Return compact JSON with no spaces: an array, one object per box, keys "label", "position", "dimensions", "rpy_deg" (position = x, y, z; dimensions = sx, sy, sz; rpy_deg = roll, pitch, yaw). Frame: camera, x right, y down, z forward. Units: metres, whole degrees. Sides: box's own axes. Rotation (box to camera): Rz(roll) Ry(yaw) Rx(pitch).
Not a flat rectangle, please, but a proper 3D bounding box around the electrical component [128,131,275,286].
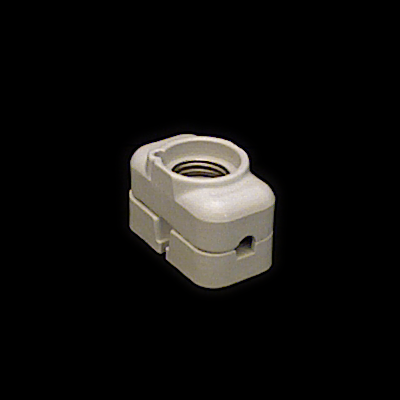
[{"label":"electrical component","position":[0.000,0.000,0.640],"dimensions":[0.054,0.060,0.093],"rpy_deg":[-20,37,-30]}]
